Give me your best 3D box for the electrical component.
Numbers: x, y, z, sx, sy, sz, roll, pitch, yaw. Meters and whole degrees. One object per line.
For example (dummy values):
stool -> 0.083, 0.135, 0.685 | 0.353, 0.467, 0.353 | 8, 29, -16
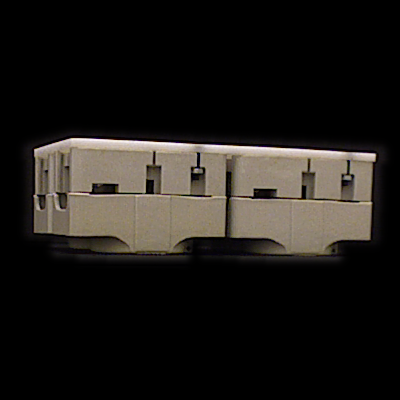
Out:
electrical component -> 0.000, 0.000, 0.649 | 0.186, 0.060, 0.105 | 1, -1, -21
